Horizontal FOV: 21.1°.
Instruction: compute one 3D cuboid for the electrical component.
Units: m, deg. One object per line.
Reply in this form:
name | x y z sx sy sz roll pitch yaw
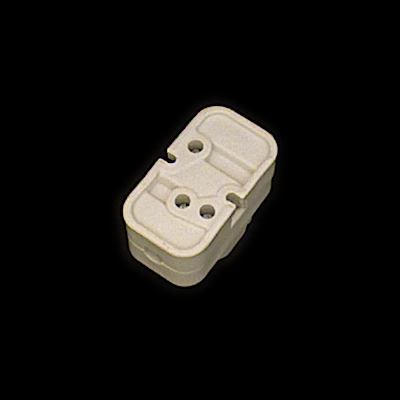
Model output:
electrical component | 0.000 0.000 0.635 0.053 0.095 0.059 33 -23 15
